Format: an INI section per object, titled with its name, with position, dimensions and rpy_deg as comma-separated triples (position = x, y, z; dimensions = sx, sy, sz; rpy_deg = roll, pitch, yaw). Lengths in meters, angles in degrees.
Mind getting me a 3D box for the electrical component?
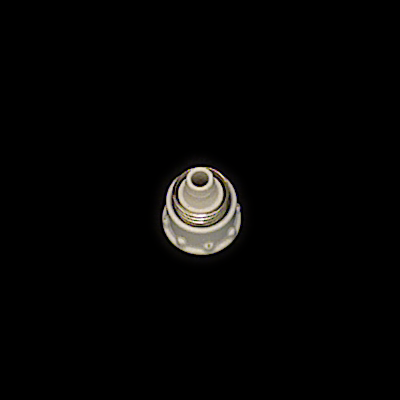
[electrical component]
position = 0.000, 0.000, 0.632
dimensions = 0.048, 0.048, 0.062
rpy_deg = 0, -26, 1
